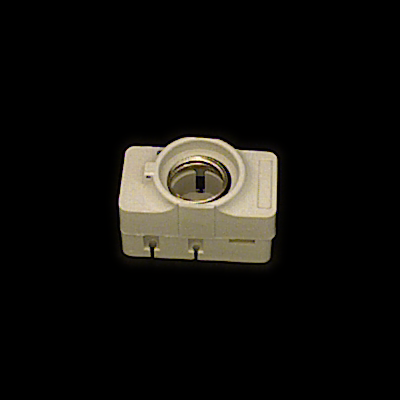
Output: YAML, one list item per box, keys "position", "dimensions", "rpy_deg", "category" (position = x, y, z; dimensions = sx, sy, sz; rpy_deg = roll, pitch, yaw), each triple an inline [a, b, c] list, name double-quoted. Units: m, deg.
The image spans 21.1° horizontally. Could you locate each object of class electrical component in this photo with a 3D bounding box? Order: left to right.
- position: [0.000, 0.000, 0.638]
  dimensions: [0.089, 0.050, 0.056]
  rpy_deg: [2, -37, 1]
  category: "electrical component"
